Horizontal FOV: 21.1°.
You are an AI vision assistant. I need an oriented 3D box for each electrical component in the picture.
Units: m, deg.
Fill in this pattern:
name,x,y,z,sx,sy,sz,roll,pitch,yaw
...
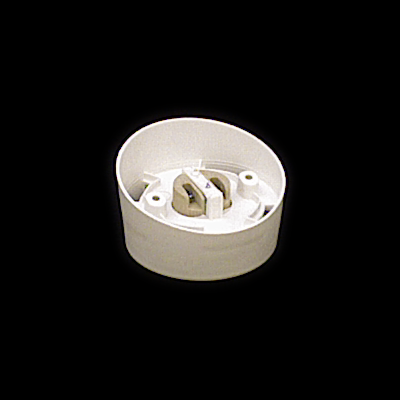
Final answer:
name,x,y,z,sx,sy,sz,roll,pitch,yaw
electrical component,0.000,0.000,0.633,0.099,0.065,0.097,0,31,0
